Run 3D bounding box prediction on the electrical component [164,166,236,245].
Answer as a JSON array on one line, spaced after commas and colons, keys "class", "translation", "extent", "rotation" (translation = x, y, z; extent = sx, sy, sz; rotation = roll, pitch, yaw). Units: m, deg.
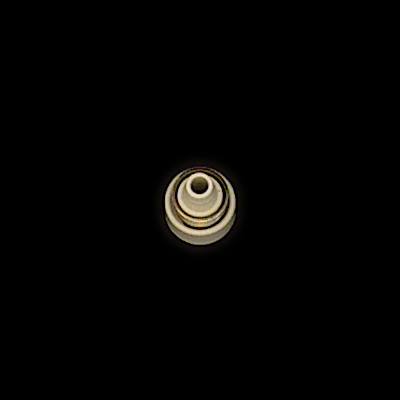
[{"class": "electrical component", "translation": [0.000, 0.000, 0.634], "extent": [0.043, 0.043, 0.061], "rotation": [0, -17, 0]}]
